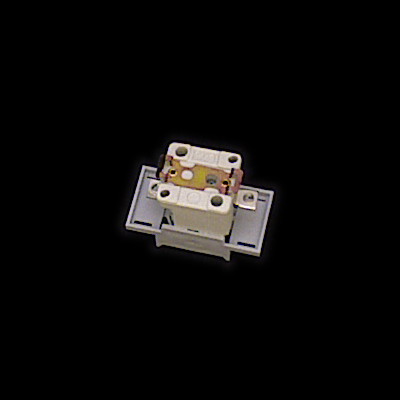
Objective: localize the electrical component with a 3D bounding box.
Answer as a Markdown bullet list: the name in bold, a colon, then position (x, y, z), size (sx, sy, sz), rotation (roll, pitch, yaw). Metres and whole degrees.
- **electrical component**: position (0.000, 0.000, 0.625), size (0.081, 0.042, 0.063), rotation (11, -26, 5)
